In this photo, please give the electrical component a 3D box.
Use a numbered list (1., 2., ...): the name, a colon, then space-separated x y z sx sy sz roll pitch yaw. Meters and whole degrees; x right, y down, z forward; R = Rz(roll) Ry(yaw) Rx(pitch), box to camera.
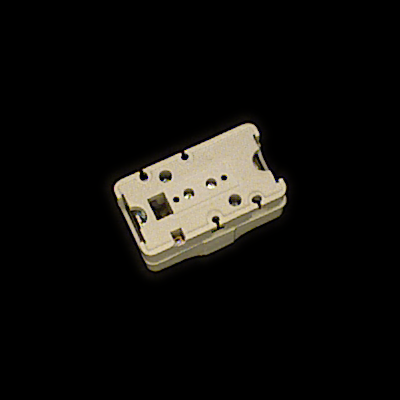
1. electrical component: 0.000 0.000 0.636 0.090 0.050 0.055 -25 -14 -6
